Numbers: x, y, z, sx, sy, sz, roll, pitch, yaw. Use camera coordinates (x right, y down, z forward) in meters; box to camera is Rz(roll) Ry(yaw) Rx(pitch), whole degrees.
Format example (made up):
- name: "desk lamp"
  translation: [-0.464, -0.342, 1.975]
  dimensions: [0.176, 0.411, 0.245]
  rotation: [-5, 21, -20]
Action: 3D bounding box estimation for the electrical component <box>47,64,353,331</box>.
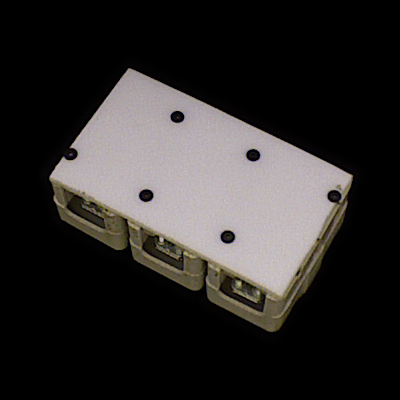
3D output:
- name: "electrical component"
  translation: [0.000, 0.000, 0.631]
  dimensions: [0.149, 0.089, 0.062]
  rotation: [27, -24, 14]
